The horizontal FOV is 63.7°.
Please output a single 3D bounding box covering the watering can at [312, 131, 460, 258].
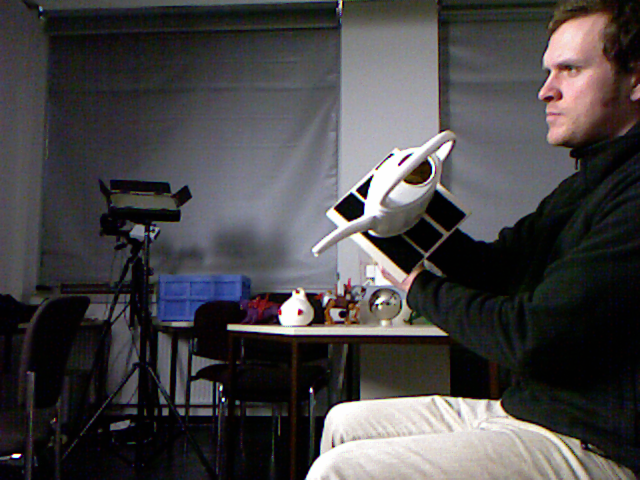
[{"bbox_3d":[0.118,-0.063,0.928,0.352,0.105,0.221,-40,-16,-13],"label":"watering can"}]
